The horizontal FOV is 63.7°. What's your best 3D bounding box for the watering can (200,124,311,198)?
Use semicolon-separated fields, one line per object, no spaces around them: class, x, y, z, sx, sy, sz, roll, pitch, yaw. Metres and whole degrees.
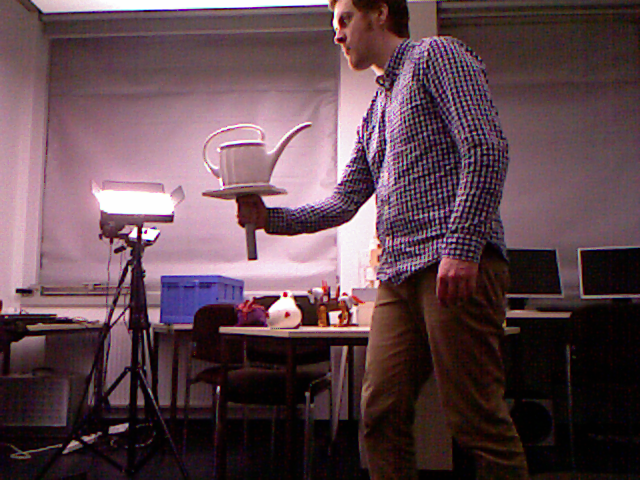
watering can;-0.190;-0.237;1.540;0.348;0.223;0.105;-4;6;9
